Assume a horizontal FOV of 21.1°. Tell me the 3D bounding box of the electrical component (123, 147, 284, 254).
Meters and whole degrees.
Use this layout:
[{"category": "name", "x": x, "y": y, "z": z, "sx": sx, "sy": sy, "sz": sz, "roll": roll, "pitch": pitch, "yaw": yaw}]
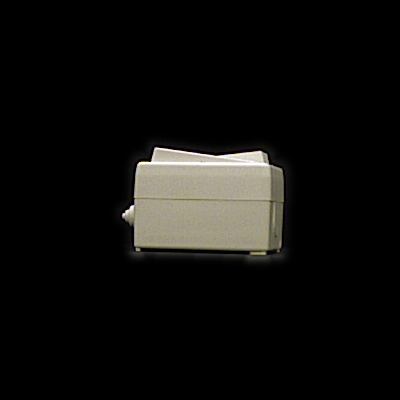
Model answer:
[{"category": "electrical component", "x": 0.000, "y": 0.000, "z": 0.650, "sx": 0.096, "sy": 0.061, "sz": 0.062, "roll": 2, "pitch": 0, "yaw": 12}]
